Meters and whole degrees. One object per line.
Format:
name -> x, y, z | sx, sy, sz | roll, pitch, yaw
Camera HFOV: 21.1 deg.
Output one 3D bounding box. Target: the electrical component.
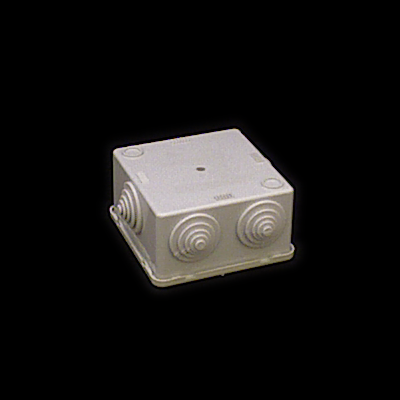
electrical component -> 0.000, 0.000, 0.638 | 0.100, 0.049, 0.098 | -11, 34, -19
